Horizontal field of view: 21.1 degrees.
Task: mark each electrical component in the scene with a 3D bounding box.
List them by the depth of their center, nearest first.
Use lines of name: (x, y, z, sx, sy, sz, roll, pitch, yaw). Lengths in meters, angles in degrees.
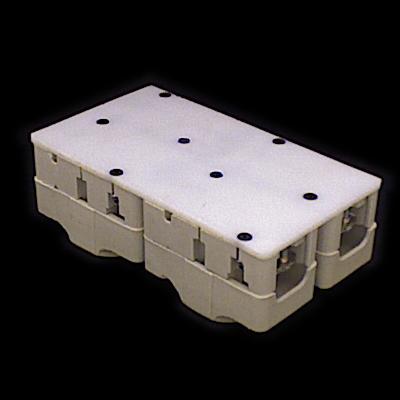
electrical component: (0.000, 0.000, 0.634, 0.184, 0.061, 0.105, 26, 39, 35)
